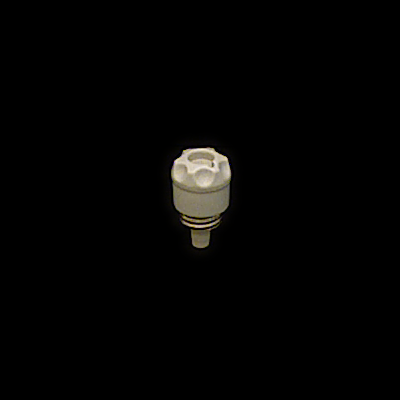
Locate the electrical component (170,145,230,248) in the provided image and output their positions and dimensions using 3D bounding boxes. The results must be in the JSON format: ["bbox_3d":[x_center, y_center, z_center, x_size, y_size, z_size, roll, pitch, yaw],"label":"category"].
[{"bbox_3d":[0.000,0.000,0.639,0.035,0.062,0.035,1,33,0],"label":"electrical component"}]
